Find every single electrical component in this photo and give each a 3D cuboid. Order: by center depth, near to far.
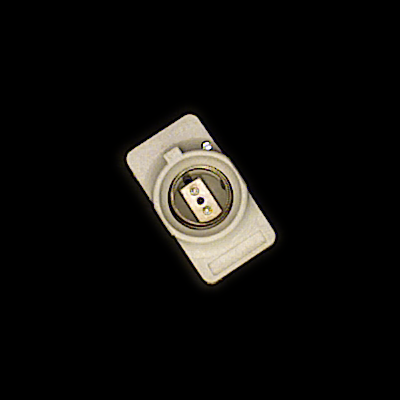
[{"bbox_3d":[0.000,0.000,0.637,0.050,0.089,0.055,-34,-5,-2],"label":"electrical component"}]
